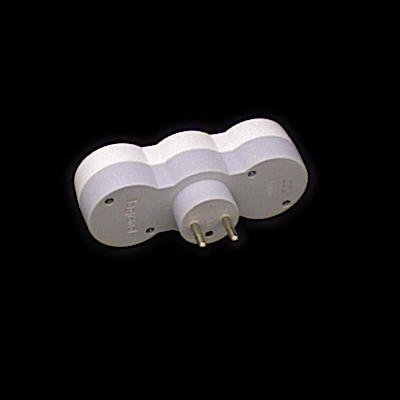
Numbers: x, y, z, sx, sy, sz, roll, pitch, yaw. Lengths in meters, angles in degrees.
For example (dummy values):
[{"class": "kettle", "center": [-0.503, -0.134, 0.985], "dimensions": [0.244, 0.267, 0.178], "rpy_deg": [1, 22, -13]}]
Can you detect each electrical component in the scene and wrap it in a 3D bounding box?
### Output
[{"class": "electrical component", "center": [0.000, 0.000, 0.635], "dimensions": [0.138, 0.052, 0.073], "rpy_deg": [-11, 45, -14]}]
